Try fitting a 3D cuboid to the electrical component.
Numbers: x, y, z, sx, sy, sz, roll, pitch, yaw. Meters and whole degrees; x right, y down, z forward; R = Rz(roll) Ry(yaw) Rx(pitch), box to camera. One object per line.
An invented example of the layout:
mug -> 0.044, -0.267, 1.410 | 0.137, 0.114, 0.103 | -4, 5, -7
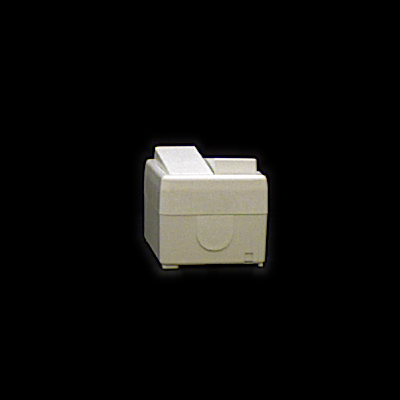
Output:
electrical component -> 0.000, 0.000, 0.647 | 0.062, 0.061, 0.095 | -1, 11, -10
